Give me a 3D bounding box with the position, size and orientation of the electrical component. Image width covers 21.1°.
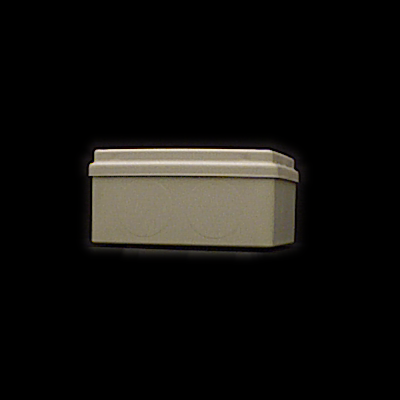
[{"bbox_3d":[0.000,0.000,0.649,0.108,0.056,0.109,1,0,12],"label":"electrical component"}]
